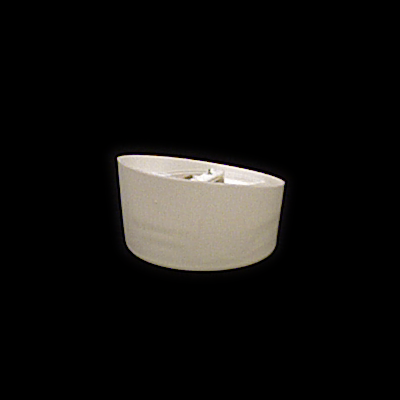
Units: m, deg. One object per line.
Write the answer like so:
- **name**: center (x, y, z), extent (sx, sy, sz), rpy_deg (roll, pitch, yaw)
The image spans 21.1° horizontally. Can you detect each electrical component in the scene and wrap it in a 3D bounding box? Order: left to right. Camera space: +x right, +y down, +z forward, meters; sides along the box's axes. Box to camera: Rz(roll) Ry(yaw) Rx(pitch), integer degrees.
- **electrical component**: center (0.000, 0.000, 0.636), extent (0.099, 0.065, 0.097), rpy_deg (1, 22, 0)
